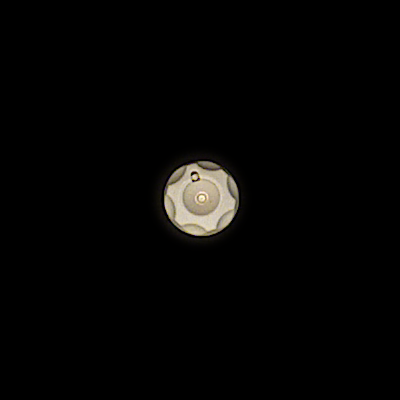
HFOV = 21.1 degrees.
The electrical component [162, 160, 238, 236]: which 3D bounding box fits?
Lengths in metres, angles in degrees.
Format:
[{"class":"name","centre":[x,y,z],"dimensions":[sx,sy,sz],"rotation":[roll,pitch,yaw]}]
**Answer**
[{"class":"electrical component","centre":[0.000,0.000,0.635],"dimensions":[0.043,0.043,0.062],"rotation":[0,-4,1]}]
